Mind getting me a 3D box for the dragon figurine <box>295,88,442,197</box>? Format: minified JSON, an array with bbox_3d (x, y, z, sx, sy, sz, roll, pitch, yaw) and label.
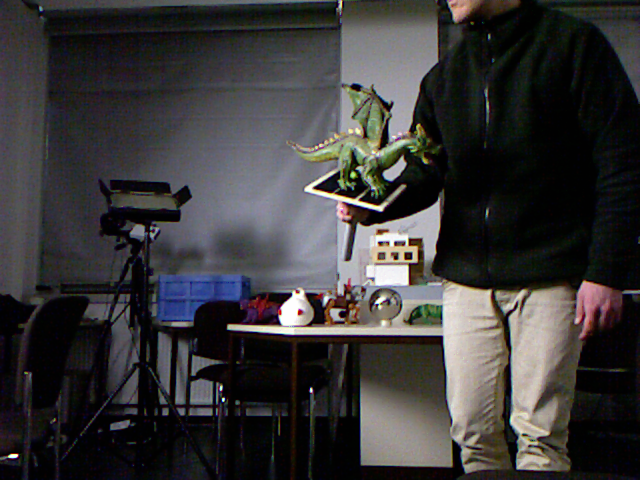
[{"bbox_3d":[0.096,-0.253,1.256,0.414,0.238,0.124,24,36,28],"label":"dragon figurine"}]
